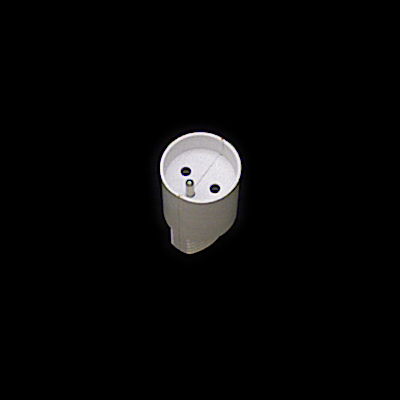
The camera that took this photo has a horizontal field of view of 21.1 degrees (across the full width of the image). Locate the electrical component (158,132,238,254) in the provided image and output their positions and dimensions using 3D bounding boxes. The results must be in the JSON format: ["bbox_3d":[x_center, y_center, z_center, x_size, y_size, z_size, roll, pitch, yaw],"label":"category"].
[{"bbox_3d":[0.000,0.000,0.615,0.043,0.043,0.081,0,-27,1],"label":"electrical component"}]
